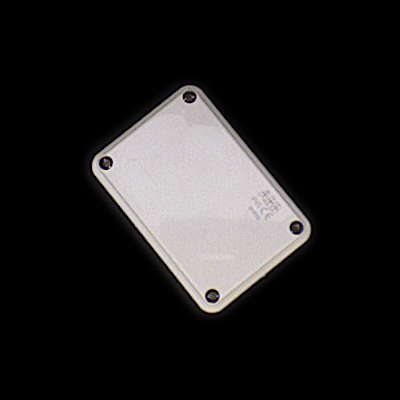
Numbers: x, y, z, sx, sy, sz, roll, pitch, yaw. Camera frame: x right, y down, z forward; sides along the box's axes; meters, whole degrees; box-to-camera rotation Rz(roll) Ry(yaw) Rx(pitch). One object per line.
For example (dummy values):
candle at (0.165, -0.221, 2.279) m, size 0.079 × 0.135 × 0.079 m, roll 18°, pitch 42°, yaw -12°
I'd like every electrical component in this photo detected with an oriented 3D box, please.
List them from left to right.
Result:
electrical component at (0.000, 0.000, 0.628) m, size 0.078 × 0.113 × 0.057 m, roll -39°, pitch -6°, yaw -4°
